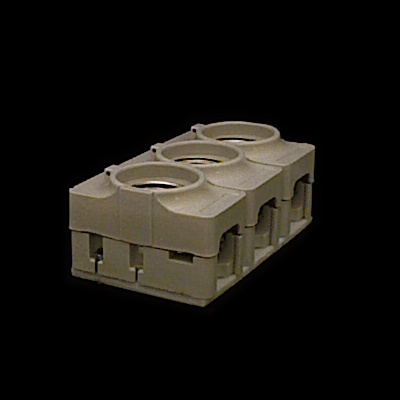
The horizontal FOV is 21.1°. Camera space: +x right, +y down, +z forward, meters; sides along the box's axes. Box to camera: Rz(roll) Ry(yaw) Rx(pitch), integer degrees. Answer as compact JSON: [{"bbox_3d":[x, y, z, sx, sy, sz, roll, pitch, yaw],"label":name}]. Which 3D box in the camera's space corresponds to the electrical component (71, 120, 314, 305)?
[{"bbox_3d":[0.000,0.000,0.645,0.089,0.063,0.148,11,22,25],"label":"electrical component"}]
